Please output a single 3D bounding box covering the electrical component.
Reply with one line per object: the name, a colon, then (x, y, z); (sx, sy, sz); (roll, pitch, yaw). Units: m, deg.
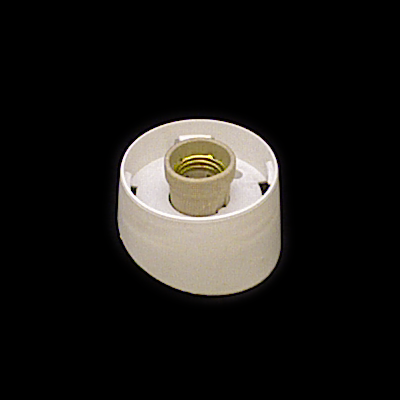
electrical component: (0.000, 0.000, 0.629); (0.099, 0.065, 0.098); (1, 42, -1)
